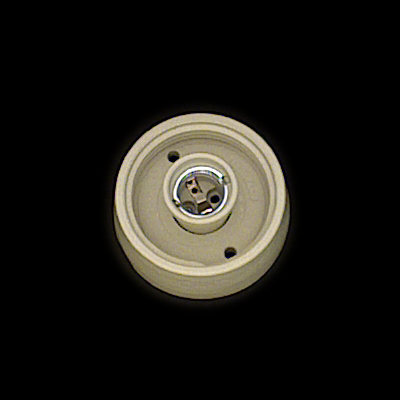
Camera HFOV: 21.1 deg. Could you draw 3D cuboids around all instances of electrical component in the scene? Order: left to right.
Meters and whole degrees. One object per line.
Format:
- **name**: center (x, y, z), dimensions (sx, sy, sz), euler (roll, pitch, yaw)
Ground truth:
- **electrical component**: center (0.000, 0.000, 0.633), dimensions (0.108, 0.108, 0.060), euler (0, -16, 0)
